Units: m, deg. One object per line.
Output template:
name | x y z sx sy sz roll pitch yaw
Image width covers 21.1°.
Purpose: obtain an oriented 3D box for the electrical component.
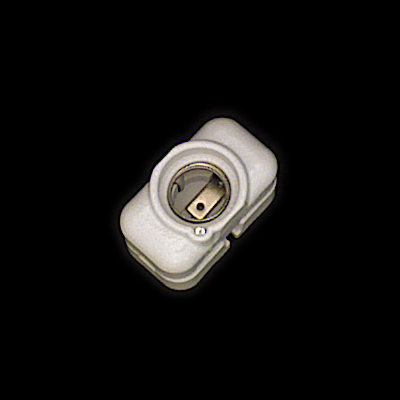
electrical component | 0.000 0.000 0.633 0.053 0.095 0.059 40 -12 11
